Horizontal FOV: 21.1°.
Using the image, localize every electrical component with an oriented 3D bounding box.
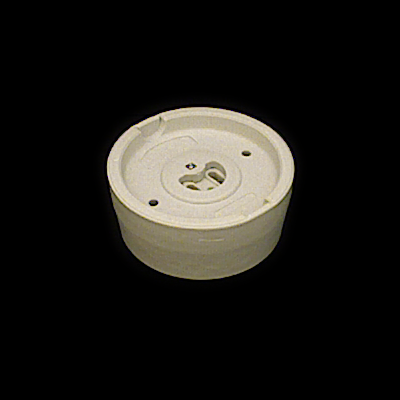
[{"bbox_3d":[0.000,0.000,0.638,0.108,0.061,0.107,1,43,0],"label":"electrical component"}]
